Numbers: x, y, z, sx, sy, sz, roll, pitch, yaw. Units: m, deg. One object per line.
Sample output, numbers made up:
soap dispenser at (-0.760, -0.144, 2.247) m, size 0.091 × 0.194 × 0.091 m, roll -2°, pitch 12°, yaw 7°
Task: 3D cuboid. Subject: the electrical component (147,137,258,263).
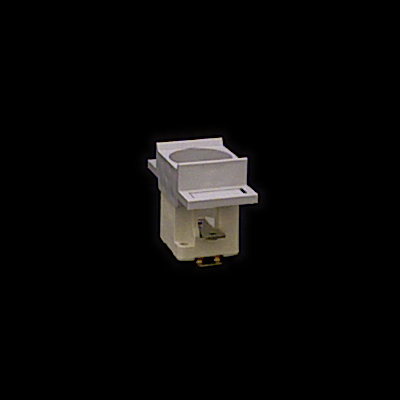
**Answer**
electrical component at (0.000, 0.000, 0.635) m, size 0.042 × 0.064 × 0.080 m, roll -5°, pitch 21°, yaw -18°
